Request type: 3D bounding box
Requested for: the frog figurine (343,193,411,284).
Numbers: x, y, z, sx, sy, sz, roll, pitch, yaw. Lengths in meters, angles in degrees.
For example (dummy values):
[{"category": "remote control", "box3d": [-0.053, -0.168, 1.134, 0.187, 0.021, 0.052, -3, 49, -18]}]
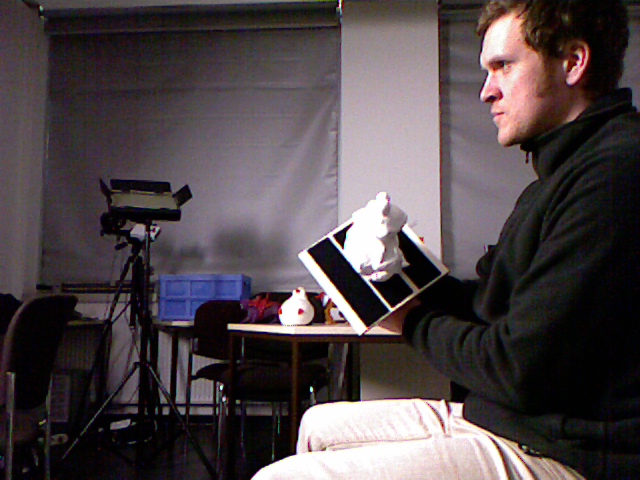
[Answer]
[{"category": "frog figurine", "box3d": [0.099, -0.002, 0.909, 0.123, 0.141, 0.157, -17, -28, -1]}]
